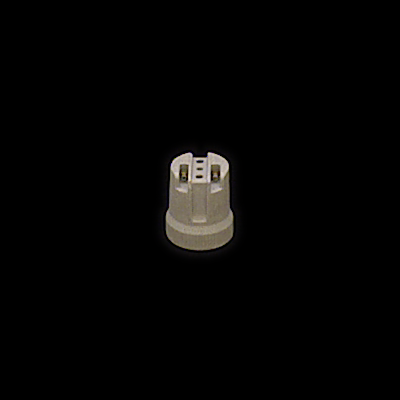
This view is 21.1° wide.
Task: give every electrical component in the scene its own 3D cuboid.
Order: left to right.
[{"bbox_3d":[0.000,0.000,0.637,0.040,0.046,0.040,0,32,0],"label":"electrical component"}]
